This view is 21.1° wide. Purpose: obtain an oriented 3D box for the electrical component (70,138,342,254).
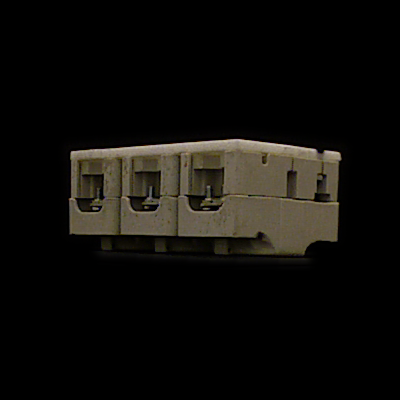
[{"bbox_3d":[0.000,0.000,0.657,0.090,0.062,0.149,2,-1,-43],"label":"electrical component"}]
